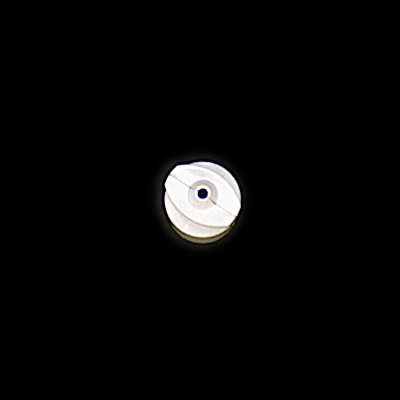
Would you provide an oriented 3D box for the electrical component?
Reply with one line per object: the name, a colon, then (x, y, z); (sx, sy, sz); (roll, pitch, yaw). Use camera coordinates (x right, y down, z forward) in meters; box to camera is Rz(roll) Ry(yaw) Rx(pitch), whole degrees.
electrical component: (0.000, 0.000, 0.616); (0.043, 0.043, 0.080); (0, -6, 1)
